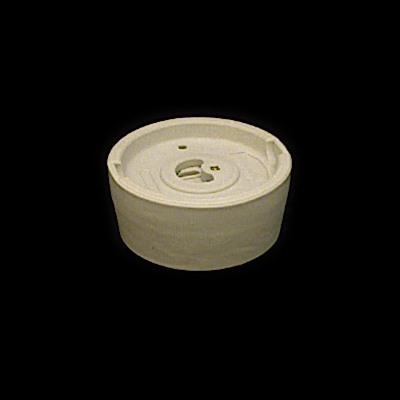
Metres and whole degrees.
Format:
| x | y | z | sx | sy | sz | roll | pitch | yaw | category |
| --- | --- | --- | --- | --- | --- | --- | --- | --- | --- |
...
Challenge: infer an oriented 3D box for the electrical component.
| x | y | z | sx | sy | sz | roll | pitch | yaw | category |
| --- | --- | --- | --- | --- | --- | --- | --- | --- | --- |
| 0.000 | 0.000 | 0.644 | 0.108 | 0.061 | 0.106 | 1 | 32 | 0 | electrical component |
